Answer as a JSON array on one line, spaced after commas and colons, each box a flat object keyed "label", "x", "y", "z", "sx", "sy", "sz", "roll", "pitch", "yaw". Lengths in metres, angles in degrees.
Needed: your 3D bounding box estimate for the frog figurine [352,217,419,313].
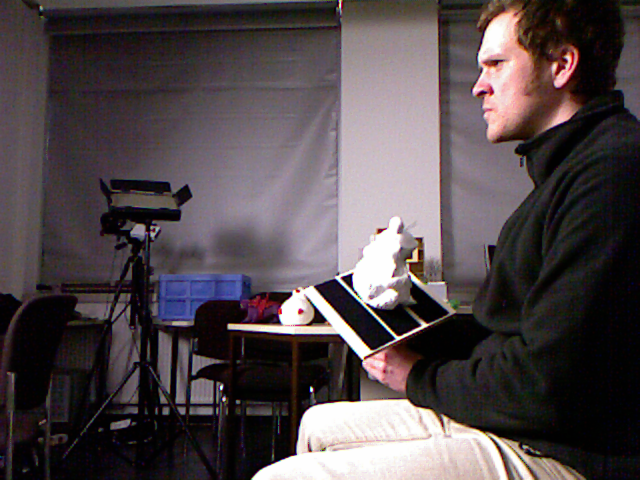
[{"label": "frog figurine", "x": 0.119, "y": 0.046, "z": 0.923, "sx": 0.123, "sy": 0.156, "sz": 0.141, "roll": -9, "pitch": 38, "yaw": -9}]
